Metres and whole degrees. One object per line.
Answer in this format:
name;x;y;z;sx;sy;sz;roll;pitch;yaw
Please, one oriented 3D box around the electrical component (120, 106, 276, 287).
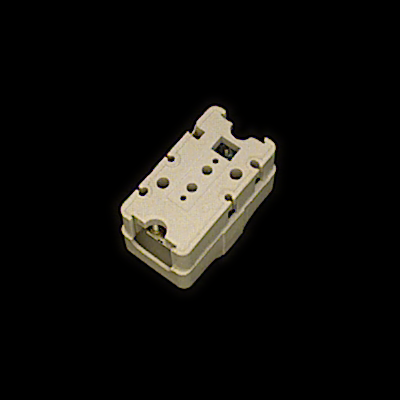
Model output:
electrical component;0.000;0.000;0.636;0.050;0.090;0.055;34;-22;16
